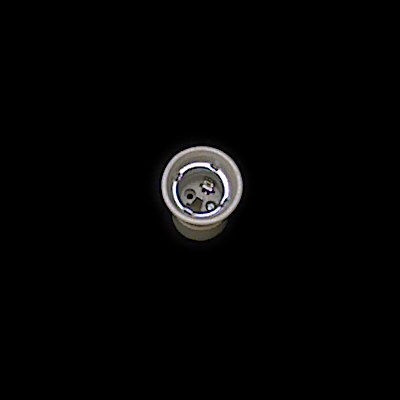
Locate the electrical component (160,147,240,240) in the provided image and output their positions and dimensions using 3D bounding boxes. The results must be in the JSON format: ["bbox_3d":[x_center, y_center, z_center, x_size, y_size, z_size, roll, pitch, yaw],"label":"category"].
[{"bbox_3d":[0.000,0.000,0.624,0.044,0.044,0.065,0,-16,-1],"label":"electrical component"}]
